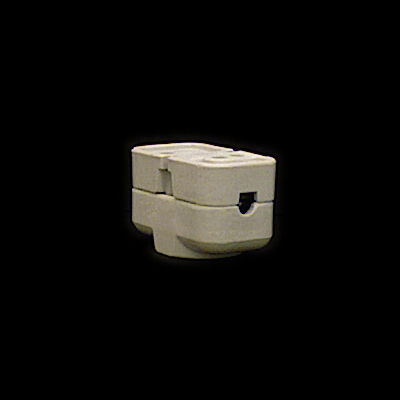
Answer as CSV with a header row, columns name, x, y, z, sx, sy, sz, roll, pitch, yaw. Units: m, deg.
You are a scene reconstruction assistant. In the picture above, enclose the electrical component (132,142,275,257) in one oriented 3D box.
name,x,y,z,sx,sy,sz,roll,pitch,yaw
electrical component,0.000,0.000,0.654,0.054,0.060,0.094,-7,13,-34
